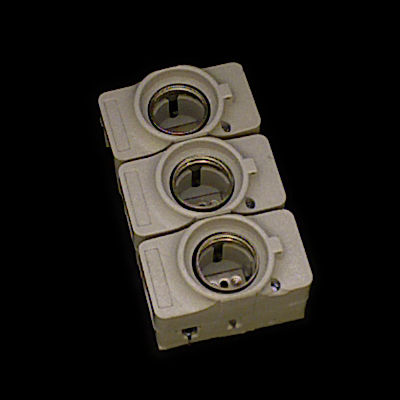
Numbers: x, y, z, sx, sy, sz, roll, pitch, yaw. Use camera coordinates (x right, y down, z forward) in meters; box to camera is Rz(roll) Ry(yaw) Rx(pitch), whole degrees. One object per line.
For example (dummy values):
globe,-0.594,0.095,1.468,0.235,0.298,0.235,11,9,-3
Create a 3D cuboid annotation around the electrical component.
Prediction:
electrical component,0.000,0.000,0.632,0.089,0.149,0.062,-13,-26,-7
